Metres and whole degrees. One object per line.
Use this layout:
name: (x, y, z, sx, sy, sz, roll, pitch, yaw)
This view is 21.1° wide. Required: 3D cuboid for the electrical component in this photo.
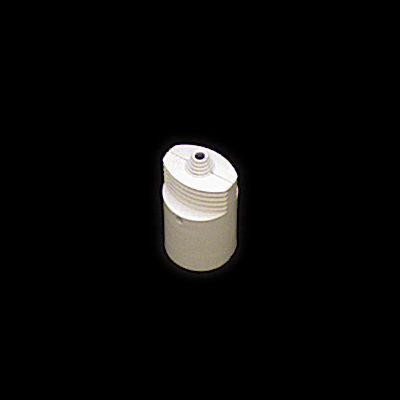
electrical component: (0.000, 0.000, 0.620, 0.043, 0.043, 0.081, 0, -38, 0)
